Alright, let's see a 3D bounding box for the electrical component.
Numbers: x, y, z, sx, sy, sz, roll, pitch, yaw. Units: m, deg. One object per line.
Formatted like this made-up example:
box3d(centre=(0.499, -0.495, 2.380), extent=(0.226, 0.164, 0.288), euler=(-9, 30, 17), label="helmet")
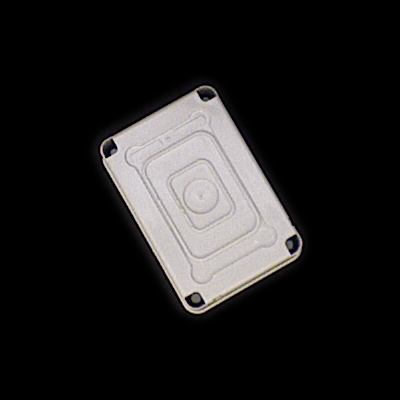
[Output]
box3d(centre=(0.000, 0.000, 0.629), extent=(0.078, 0.113, 0.057), euler=(-29, -6, -3), label="electrical component")
